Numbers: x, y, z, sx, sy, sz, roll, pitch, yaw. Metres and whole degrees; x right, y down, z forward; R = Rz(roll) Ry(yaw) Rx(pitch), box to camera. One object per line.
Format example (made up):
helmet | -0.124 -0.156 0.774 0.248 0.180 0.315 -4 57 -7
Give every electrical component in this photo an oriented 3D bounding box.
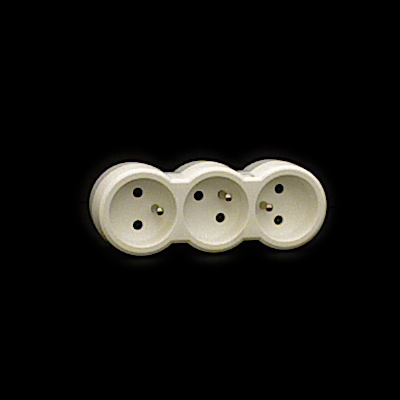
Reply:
electrical component | 0.000 0.000 0.655 0.139 0.052 0.073 -2 10 -15
